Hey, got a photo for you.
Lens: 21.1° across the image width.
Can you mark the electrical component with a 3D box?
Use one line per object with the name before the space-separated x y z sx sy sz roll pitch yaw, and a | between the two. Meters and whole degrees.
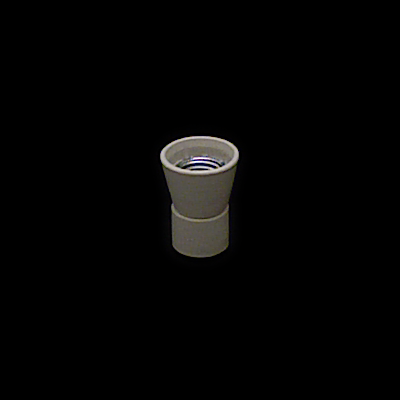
electrical component | 0.000 0.000 0.632 0.044 0.066 0.044 0 32 0
